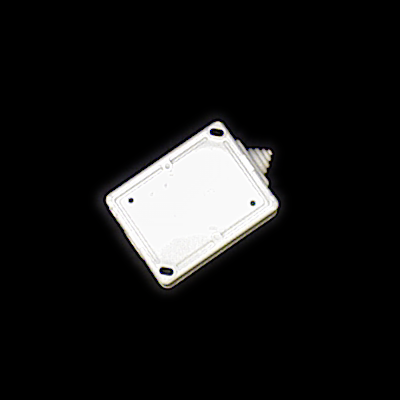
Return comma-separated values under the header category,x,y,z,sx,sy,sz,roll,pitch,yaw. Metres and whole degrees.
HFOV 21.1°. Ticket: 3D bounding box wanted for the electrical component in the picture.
category,x,y,z,sx,sy,sz,roll,pitch,yaw
electrical component,0.000,0.000,0.627,0.096,0.062,0.061,-35,-6,-3
